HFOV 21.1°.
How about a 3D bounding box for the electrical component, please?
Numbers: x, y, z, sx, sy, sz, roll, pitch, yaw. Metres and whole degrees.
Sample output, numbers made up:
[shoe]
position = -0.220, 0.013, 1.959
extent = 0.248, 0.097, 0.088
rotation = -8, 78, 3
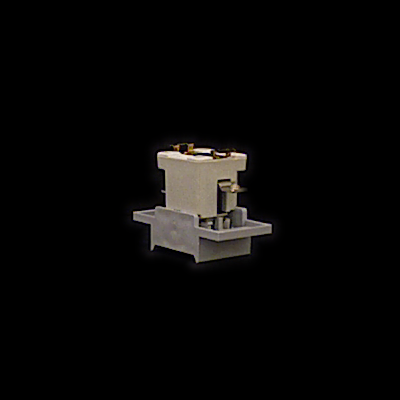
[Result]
[electrical component]
position = 0.000, 0.000, 0.644
extent = 0.042, 0.064, 0.080
rotation = -9, 15, -40
